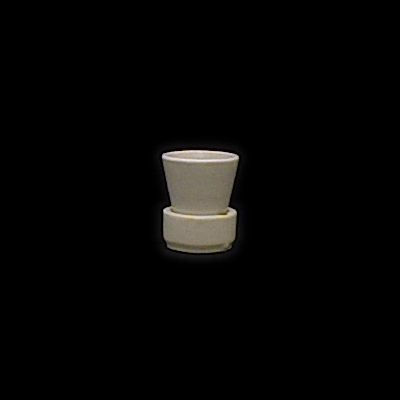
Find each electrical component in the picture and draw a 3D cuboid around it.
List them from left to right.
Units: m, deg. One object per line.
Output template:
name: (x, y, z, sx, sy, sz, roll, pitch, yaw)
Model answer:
electrical component: (0.000, 0.000, 0.643, 0.045, 0.055, 0.044, 1, 11, 0)
